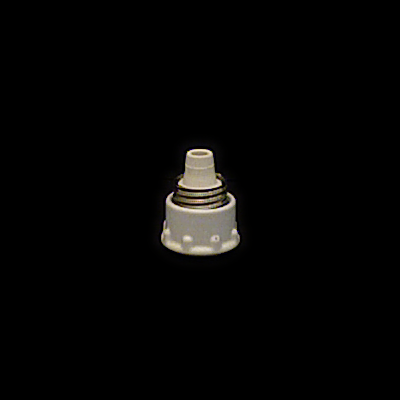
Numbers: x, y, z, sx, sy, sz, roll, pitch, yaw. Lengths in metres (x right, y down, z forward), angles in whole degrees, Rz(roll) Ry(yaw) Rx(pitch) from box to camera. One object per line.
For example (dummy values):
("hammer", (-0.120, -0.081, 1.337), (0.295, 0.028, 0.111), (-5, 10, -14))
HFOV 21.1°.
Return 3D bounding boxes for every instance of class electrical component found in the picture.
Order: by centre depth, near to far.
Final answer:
("electrical component", (0.000, 0.000, 0.644), (0.048, 0.063, 0.047), (0, 21, 1))
